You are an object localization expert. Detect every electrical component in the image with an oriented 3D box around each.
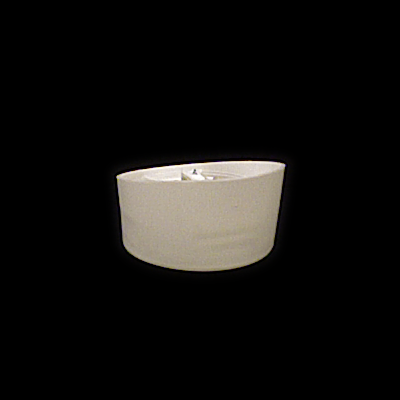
[{"bbox_3d":[0.000,0.000,0.637,0.099,0.065,0.097,2,21,-1],"label":"electrical component"}]
